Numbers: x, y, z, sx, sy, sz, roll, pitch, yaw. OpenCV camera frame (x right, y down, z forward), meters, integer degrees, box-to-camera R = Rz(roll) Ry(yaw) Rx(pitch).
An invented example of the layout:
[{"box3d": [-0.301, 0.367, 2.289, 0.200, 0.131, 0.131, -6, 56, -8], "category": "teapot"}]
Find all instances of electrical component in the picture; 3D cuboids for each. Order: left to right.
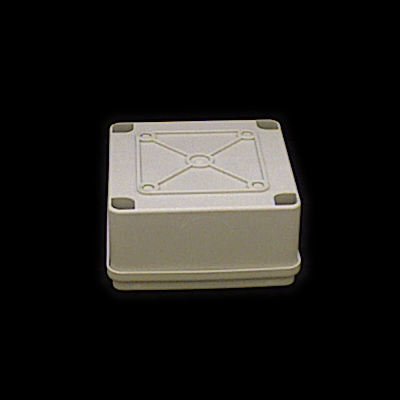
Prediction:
[{"box3d": [0.000, 0.000, 0.632, 0.109, 0.057, 0.107, -2, 32, -3], "category": "electrical component"}]
